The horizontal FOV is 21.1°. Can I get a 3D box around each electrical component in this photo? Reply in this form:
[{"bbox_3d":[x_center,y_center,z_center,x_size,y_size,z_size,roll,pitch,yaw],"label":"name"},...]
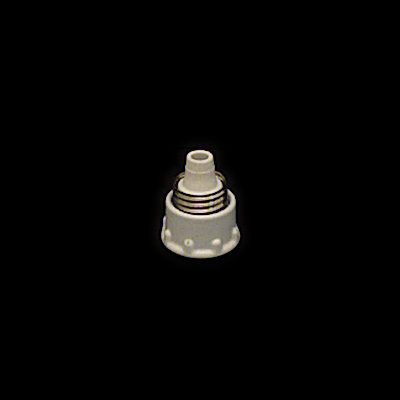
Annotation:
[{"bbox_3d":[0.000,0.000,0.641,0.048,0.063,0.047,0,31,0],"label":"electrical component"}]
